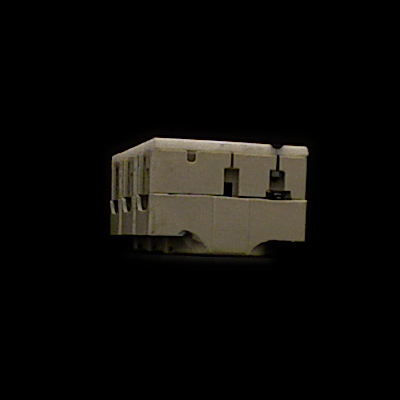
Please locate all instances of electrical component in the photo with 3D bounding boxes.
[{"bbox_3d":[0.000,0.000,0.659,0.090,0.062,0.150,2,-1,-13],"label":"electrical component"}]
